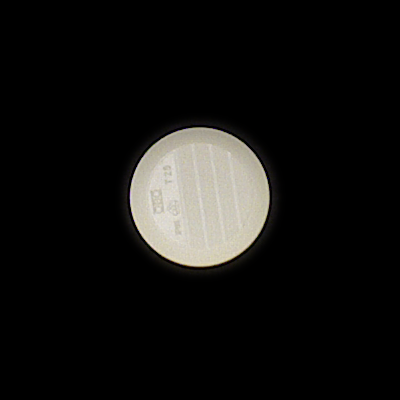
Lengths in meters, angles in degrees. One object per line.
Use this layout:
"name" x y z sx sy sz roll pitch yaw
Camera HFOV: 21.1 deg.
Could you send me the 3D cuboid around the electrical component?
"electrical component" 0.000 0.000 0.631 0.080 0.080 0.050 0 -7 0
